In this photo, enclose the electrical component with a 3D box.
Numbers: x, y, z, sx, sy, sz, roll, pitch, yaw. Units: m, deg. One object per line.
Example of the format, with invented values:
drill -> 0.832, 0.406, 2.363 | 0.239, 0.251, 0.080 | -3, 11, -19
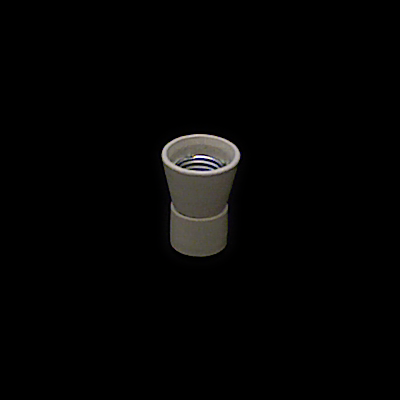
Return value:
electrical component -> 0.000, 0.000, 0.632 | 0.044, 0.066, 0.044 | 1, 32, -1
